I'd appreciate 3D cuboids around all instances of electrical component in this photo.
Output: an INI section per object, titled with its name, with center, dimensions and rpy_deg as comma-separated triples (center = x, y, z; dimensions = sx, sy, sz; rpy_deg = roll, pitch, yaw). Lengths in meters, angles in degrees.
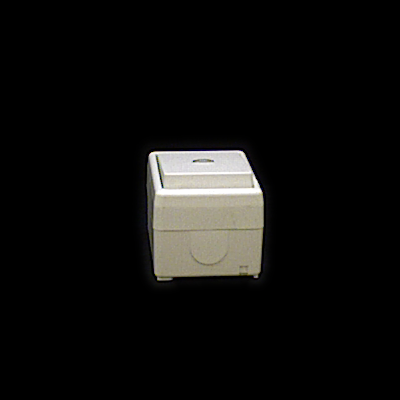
[electrical component]
center = 0.000, 0.000, 0.641
dimensions = 0.062, 0.061, 0.095
rpy_deg = -1, 21, -6
